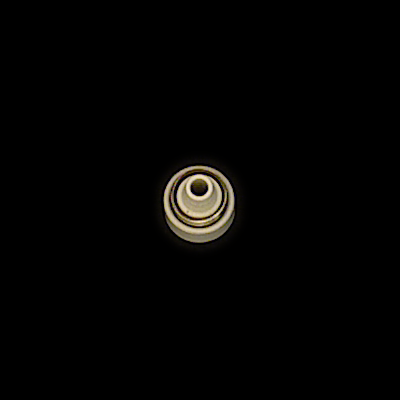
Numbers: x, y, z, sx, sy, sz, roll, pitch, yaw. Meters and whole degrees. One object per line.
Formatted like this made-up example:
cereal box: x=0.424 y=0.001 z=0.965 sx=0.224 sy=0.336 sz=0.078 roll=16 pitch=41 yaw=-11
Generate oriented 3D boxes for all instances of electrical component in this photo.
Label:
electrical component: x=0.000 y=0.000 z=0.633 sx=0.043 sy=0.043 sz=0.061 roll=0 pitch=-14 yaw=0
